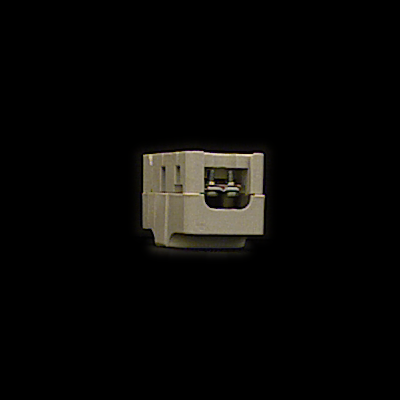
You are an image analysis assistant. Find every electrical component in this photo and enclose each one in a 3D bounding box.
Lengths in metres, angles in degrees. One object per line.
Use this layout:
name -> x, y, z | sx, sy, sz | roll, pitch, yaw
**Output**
electrical component -> 0.000, 0.000, 0.656 | 0.050, 0.056, 0.089 | 0, 1, -21
